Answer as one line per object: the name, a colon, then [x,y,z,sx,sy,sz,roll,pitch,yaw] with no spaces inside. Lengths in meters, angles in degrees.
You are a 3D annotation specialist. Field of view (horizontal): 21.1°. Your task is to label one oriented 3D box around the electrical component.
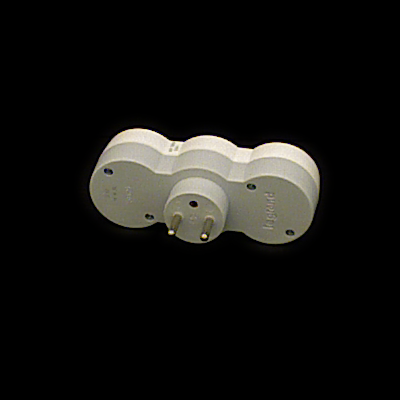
electrical component: [0.000,0.000,0.641,0.138,0.053,0.073,7,34,8]
